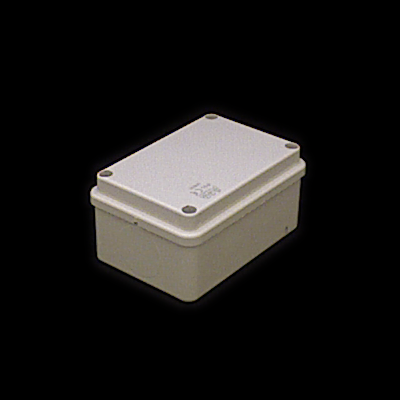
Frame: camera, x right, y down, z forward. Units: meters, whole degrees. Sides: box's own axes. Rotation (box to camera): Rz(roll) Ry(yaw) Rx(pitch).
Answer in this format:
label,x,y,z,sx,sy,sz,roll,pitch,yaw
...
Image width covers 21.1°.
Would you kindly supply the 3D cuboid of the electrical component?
label,x,y,z,sx,sy,sz,roll,pitch,yaw
electrical component,0.000,0.000,0.633,0.077,0.058,0.112,23,37,32
